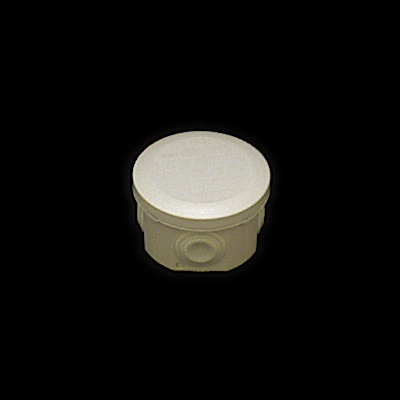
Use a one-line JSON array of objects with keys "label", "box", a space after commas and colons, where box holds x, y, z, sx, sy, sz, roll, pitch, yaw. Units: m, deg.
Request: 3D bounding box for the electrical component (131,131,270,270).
[{"label": "electrical component", "box": [0.000, 0.000, 0.634, 0.080, 0.051, 0.079, 1, 42, 0]}]
